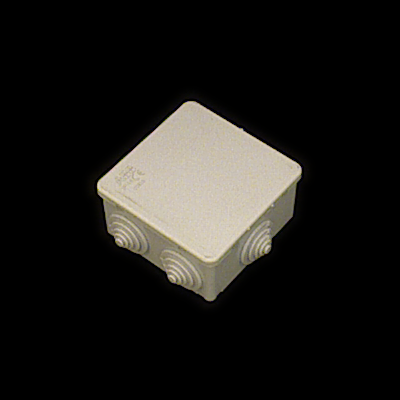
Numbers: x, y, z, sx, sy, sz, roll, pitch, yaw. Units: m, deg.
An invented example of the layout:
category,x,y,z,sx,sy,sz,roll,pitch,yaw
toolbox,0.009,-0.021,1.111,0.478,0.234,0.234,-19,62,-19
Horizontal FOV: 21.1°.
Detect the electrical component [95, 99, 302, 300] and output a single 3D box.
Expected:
category,x,y,z,sx,sy,sz,roll,pitch,yaw
electrical component,0.000,0.000,0.640,0.099,0.100,0.048,33,-30,22
